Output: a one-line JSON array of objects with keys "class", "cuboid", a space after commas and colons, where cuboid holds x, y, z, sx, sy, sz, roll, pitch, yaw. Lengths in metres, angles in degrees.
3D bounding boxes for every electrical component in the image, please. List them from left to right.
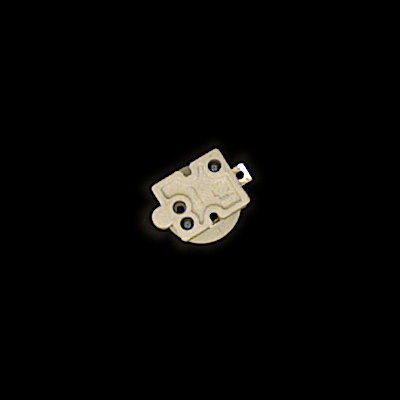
[{"class": "electrical component", "cuboid": [0.000, 0.000, 0.638, 0.066, 0.048, 0.055, -31, -6, -3]}]
